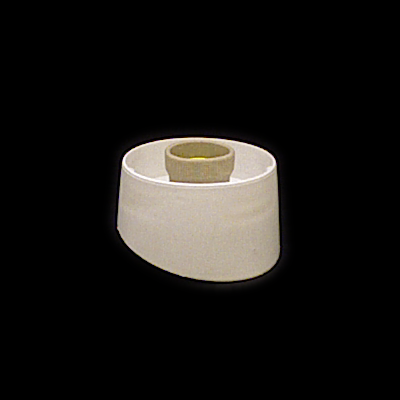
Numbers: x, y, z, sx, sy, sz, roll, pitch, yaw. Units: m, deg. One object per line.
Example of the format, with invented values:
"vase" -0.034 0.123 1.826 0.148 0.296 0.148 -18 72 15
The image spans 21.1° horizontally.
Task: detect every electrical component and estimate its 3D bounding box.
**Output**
"electrical component" 0.000 0.000 0.638 0.099 0.065 0.097 1 21 0
